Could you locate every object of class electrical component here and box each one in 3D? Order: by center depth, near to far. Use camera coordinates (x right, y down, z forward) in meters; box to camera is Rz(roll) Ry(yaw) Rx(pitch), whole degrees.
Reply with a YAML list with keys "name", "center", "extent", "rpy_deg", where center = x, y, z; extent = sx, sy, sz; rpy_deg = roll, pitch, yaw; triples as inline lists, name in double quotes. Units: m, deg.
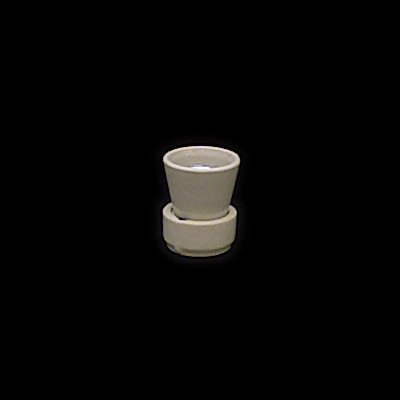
- name: "electrical component"
  center: [0.000, 0.000, 0.640]
  extent: [0.045, 0.056, 0.044]
  rpy_deg: [1, 22, 0]
